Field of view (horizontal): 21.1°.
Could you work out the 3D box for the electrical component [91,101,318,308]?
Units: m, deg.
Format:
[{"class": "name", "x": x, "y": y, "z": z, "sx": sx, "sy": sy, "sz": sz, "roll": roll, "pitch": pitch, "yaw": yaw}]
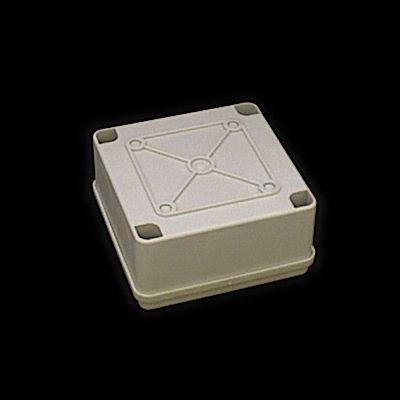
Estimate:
[{"class": "electrical component", "x": 0.000, "y": 0.000, "z": 0.634, "sx": 0.109, "sy": 0.057, "sz": 0.107, "roll": -12, "pitch": 43, "yaw": -15}]
